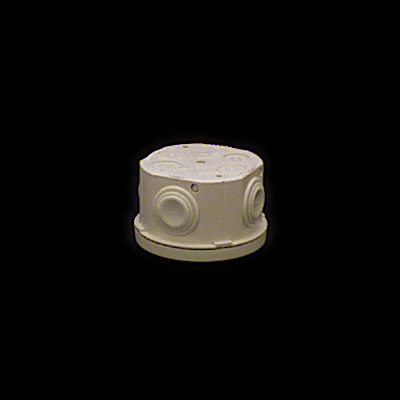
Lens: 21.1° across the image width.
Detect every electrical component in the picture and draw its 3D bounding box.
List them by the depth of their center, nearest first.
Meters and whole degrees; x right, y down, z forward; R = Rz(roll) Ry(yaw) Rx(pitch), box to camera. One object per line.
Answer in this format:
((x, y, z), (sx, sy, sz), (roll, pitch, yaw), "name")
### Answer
((0.000, 0.000, 0.642), (0.080, 0.051, 0.079), (1, 20, 0), "electrical component")
